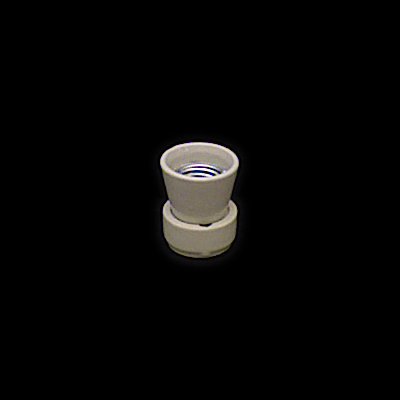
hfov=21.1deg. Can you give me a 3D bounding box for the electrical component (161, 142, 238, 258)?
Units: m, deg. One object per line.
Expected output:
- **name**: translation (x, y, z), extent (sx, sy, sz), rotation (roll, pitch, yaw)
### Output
- **electrical component**: translation (0.000, 0.000, 0.633), extent (0.045, 0.056, 0.044), rotation (0, 31, 0)
